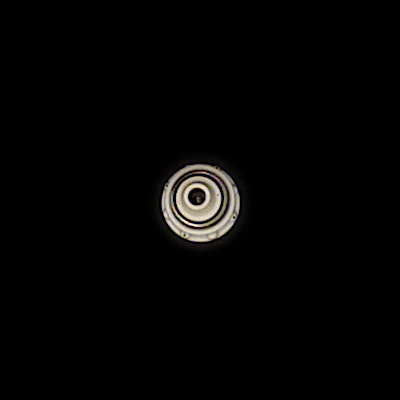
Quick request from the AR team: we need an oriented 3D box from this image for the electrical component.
[{"bbox_3d":[0.000,0.000,0.634,0.048,0.048,0.062,0,-5,2],"label":"electrical component"}]
